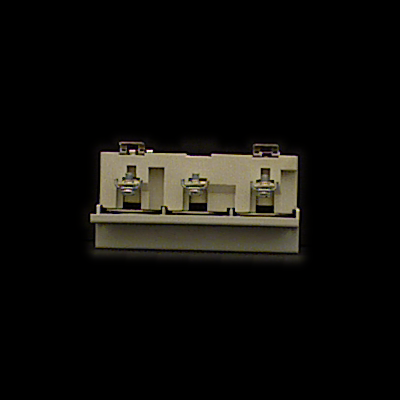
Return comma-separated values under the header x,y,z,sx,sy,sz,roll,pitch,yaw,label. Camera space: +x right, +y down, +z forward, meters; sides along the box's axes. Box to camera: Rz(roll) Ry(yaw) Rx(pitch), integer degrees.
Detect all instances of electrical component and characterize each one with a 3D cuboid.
x,y,z,sx,sy,sz,roll,pitch,yaw,label
0.000,0.000,0.660,0.121,0.063,0.079,2,0,4,electrical component
